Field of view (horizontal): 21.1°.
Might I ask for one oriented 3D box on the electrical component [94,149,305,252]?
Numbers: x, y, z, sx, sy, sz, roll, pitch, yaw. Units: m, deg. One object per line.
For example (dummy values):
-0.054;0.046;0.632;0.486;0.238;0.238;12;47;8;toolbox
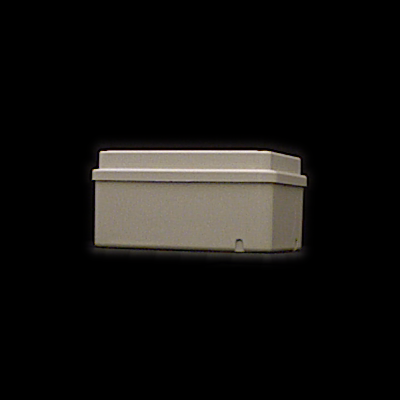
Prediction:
0.000;0.000;0.647;0.113;0.057;0.078;2;0;20;electrical component
